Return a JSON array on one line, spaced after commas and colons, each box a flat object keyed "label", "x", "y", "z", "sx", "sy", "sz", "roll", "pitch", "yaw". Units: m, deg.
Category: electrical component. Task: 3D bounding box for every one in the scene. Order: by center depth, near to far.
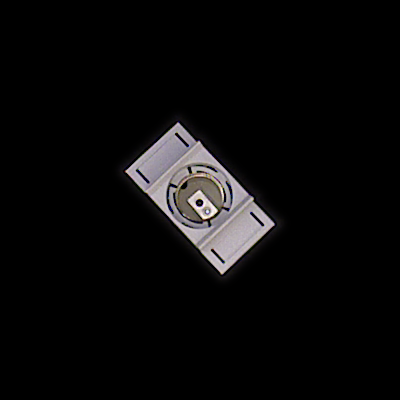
[{"label": "electrical component", "x": 0.000, "y": 0.000, "z": 0.624, "sx": 0.042, "sy": 0.081, "sz": 0.063, "roll": -43, "pitch": -5, "yaw": -5}]
